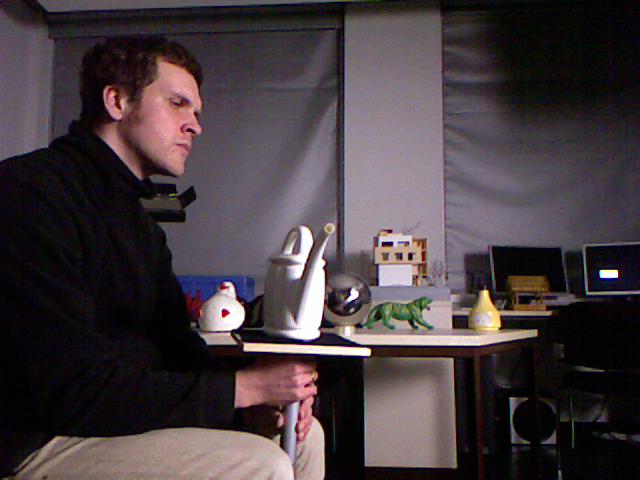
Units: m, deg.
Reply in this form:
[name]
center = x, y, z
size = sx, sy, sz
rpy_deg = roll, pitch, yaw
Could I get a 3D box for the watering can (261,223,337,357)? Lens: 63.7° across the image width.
[watering can]
center = -0.036, 0.080, 0.852
size = 0.104, 0.225, 0.347
rpy_deg = 3, -3, -13
